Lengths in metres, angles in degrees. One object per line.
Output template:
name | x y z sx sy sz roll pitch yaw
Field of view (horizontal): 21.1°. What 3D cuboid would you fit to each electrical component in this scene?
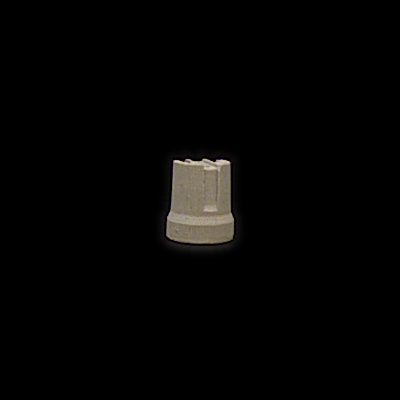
electrical component | 0.000 0.000 0.647 0.040 0.046 0.040 2 11 0
